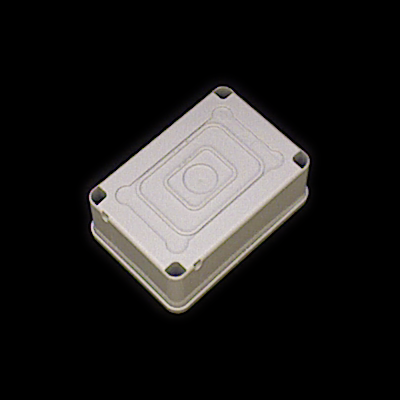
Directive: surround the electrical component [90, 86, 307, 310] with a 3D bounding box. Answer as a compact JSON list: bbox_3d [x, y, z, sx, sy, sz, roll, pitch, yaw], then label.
[{"bbox_3d":[0.000,0.000,0.628,0.113,0.078,0.057,-40,-20,-19],"label":"electrical component"}]
